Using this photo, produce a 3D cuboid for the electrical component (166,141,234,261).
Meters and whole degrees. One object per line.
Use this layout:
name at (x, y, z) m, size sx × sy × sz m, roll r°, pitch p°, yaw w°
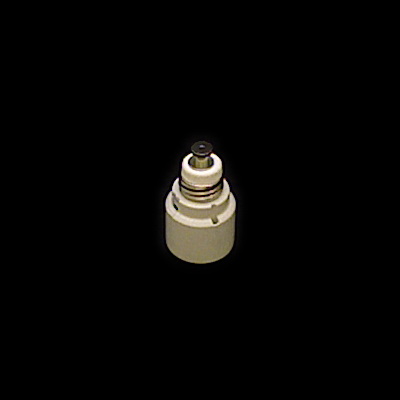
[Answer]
electrical component at (0.000, 0.000, 0.626) m, size 0.040 × 0.079 × 0.039 m, roll 1°, pitch 42°, yaw -1°
